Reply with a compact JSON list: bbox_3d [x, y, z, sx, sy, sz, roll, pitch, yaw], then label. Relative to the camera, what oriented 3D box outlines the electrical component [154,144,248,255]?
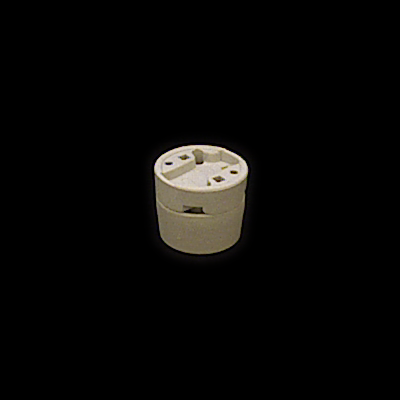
[{"bbox_3d":[0.000,0.000,0.640,0.055,0.047,0.055,1,32,0],"label":"electrical component"}]
